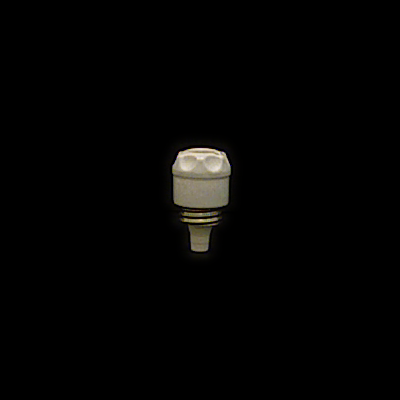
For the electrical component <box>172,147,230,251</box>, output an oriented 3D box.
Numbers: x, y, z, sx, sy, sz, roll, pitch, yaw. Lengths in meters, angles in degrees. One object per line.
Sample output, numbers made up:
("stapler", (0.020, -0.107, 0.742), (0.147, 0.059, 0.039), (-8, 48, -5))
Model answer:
("electrical component", (0.000, 0.000, 0.649), (0.035, 0.062, 0.035), (1, 12, 0))
